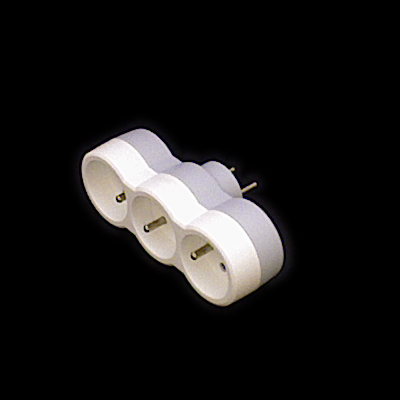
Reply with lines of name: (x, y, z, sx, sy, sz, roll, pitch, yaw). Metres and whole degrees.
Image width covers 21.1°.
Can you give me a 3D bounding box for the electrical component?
electrical component: (0.000, 0.000, 0.635, 0.074, 0.052, 0.137, -30, 50, -32)
